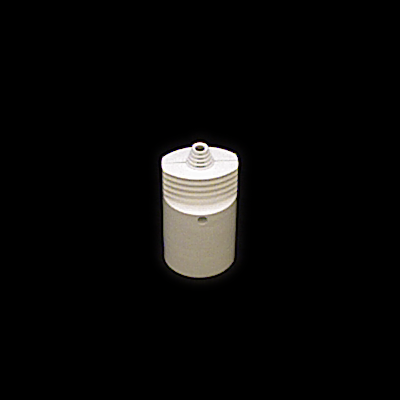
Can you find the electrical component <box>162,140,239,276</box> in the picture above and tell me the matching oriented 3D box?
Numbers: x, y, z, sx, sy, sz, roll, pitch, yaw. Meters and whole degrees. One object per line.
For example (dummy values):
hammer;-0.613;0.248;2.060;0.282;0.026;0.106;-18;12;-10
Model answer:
electrical component;0.000;0.000;0.623;0.043;0.082;0.042;0;42;0
